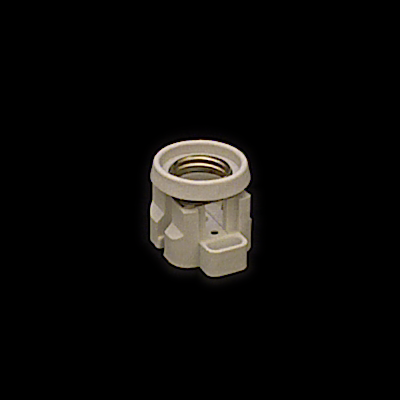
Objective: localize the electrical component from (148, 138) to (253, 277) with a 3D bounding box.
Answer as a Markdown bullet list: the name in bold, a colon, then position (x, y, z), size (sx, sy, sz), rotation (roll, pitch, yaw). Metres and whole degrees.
- **electrical component**: position (0.000, 0.000, 0.636), size (0.058, 0.057, 0.077), rotation (-14, 35, -23)
